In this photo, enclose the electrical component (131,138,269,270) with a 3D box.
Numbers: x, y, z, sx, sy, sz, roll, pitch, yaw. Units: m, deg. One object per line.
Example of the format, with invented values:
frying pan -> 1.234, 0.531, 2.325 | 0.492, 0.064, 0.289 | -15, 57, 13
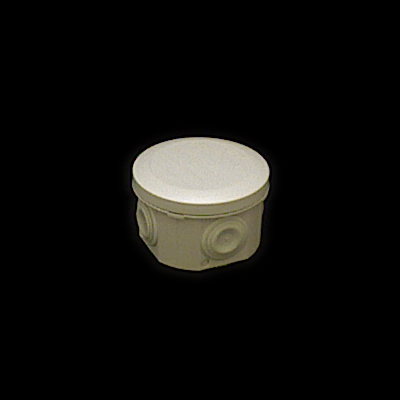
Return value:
electrical component -> 0.000, 0.000, 0.635 | 0.080, 0.051, 0.079 | 1, 31, 0
